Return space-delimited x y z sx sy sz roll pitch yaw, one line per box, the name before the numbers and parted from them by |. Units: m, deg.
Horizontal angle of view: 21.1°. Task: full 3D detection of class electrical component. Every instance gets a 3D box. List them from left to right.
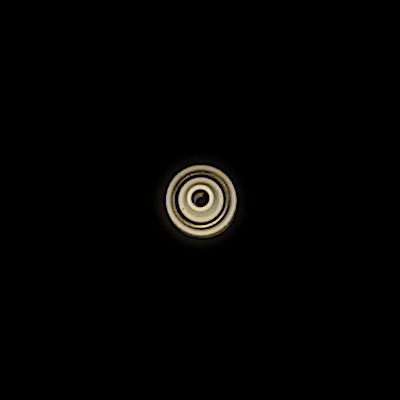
electrical component | 0.000 0.000 0.634 0.043 0.043 0.062 0 -4 1
